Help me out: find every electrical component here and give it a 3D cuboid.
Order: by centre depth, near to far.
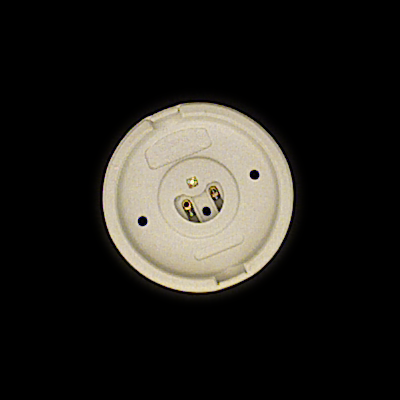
[{"bbox_3d":[0.000,0.000,0.635,0.108,0.108,0.060,0,-5,0],"label":"electrical component"}]
